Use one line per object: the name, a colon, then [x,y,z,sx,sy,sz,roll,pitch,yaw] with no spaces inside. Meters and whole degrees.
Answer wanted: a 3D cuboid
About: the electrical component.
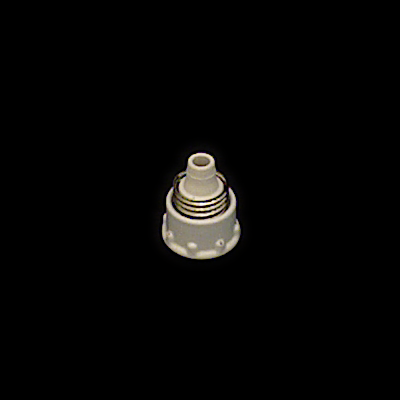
electrical component: [0.000,0.000,0.639,0.048,0.062,0.047,1,42,0]
